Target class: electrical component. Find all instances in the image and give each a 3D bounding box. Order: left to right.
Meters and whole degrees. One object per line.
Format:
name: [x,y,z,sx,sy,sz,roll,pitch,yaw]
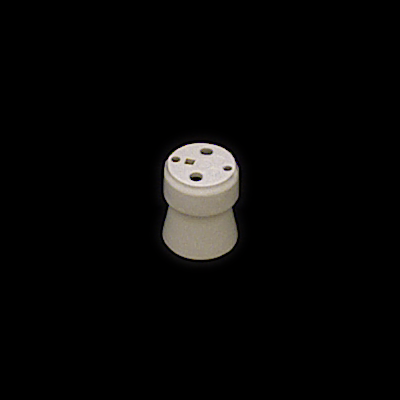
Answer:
electrical component: [0.000,0.000,0.633,0.045,0.055,0.044,1,42,-1]
